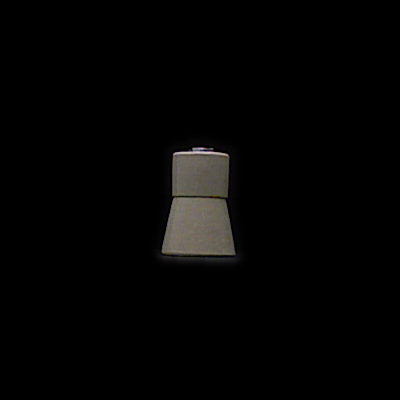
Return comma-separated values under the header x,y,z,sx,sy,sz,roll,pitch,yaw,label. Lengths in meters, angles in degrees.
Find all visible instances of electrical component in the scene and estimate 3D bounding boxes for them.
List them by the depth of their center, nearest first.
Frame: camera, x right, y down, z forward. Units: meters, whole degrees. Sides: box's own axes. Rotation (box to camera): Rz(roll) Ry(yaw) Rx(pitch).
x,y,z,sx,sy,sz,roll,pitch,yaw,label
0.000,0.000,0.650,0.044,0.065,0.044,2,0,0,electrical component
